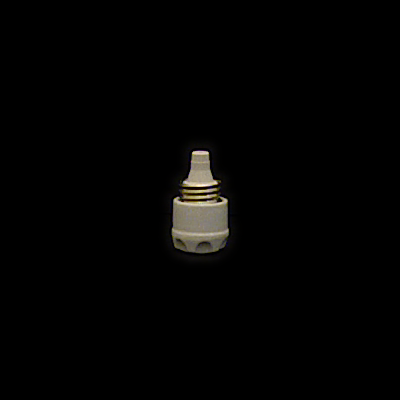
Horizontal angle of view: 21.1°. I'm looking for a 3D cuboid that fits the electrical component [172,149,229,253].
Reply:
[{"bbox_3d":[0.000,0.000,0.657,0.035,0.062,0.035,0,13,0],"label":"electrical component"}]
